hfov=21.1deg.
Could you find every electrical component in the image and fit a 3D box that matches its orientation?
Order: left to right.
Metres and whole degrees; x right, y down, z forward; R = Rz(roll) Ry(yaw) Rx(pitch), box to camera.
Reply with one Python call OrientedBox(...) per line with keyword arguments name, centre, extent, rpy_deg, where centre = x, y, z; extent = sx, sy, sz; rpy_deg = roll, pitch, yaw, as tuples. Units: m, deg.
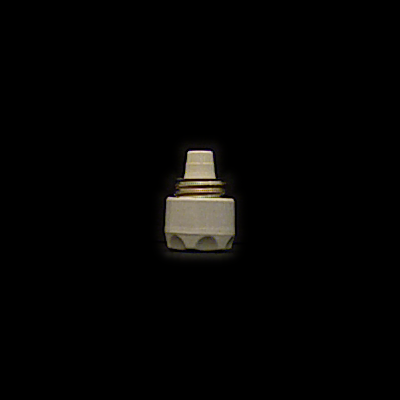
OrientedBox(name="electrical component", centre=(0.000, 0.000, 0.657), extent=(0.043, 0.062, 0.043), rpy_deg=(1, 1, 1))
